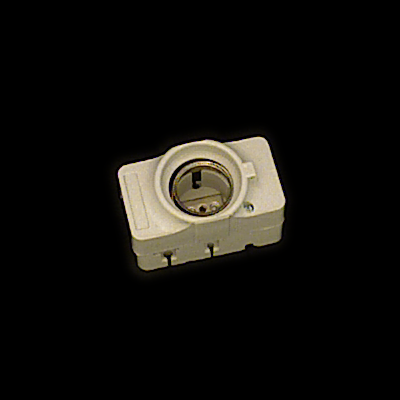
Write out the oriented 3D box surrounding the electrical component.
[{"bbox_3d":[0.000,0.000,0.636,0.090,0.050,0.055,-13,-26,-6],"label":"electrical component"}]
